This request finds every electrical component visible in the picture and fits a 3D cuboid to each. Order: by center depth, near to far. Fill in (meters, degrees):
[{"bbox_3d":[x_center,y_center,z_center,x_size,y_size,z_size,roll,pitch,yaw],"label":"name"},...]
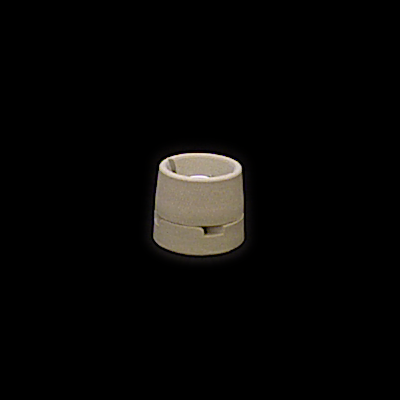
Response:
[{"bbox_3d":[0.000,0.000,0.640,0.055,0.047,0.055,2,22,-1],"label":"electrical component"}]
